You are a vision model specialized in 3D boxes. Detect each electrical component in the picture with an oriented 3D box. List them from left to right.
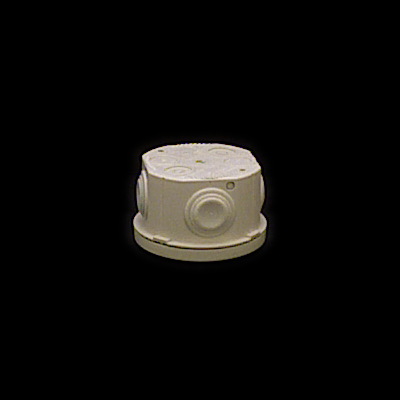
[{"bbox_3d":[0.000,0.000,0.641,0.080,0.051,0.079,1,21,0],"label":"electrical component"}]
